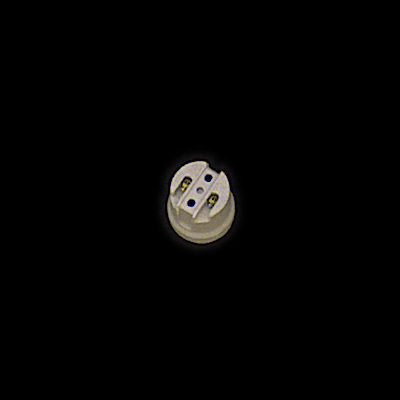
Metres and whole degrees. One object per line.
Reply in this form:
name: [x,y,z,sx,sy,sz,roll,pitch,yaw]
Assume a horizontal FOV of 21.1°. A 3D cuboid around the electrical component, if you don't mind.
electrical component: [0.000,0.000,0.633,0.040,0.040,0.046,0,-17,1]
